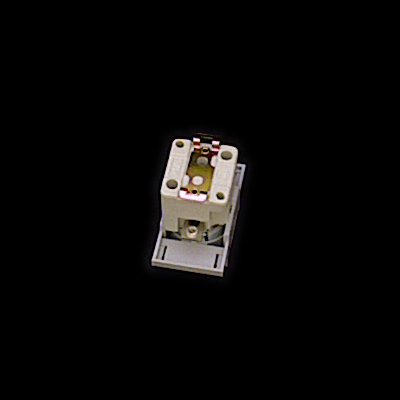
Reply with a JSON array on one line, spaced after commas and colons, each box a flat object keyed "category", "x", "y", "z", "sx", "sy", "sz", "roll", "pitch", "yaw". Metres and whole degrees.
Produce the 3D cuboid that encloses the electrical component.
[{"category": "electrical component", "x": 0.000, "y": 0.000, "z": 0.627, "sx": 0.042, "sy": 0.080, "sz": 0.064, "roll": 8, "pitch": -37, "yaw": 6}]
